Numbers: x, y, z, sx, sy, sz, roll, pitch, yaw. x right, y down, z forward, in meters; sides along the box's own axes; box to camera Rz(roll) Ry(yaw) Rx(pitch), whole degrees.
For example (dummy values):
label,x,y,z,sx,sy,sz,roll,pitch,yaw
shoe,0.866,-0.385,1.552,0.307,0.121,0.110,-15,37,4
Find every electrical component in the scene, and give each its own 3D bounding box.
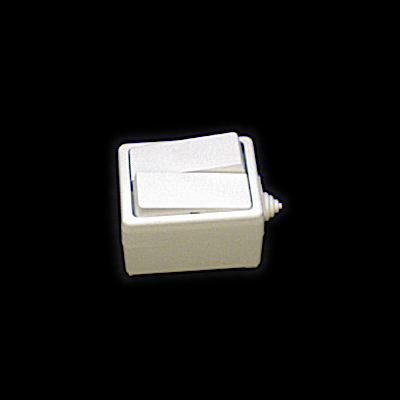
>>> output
label,x,y,z,sx,sy,sz,roll,pitch,yaw
electrical component,0.000,0.000,0.628,0.096,0.061,0.061,-4,-38,-3
